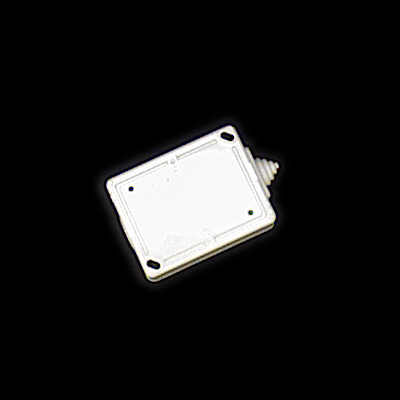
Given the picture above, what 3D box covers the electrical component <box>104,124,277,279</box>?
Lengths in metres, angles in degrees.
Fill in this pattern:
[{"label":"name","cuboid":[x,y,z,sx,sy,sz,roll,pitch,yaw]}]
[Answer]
[{"label":"electrical component","cuboid":[0.000,0.001,0.627,0.096,0.062,0.061,-25,-7,-2]}]
